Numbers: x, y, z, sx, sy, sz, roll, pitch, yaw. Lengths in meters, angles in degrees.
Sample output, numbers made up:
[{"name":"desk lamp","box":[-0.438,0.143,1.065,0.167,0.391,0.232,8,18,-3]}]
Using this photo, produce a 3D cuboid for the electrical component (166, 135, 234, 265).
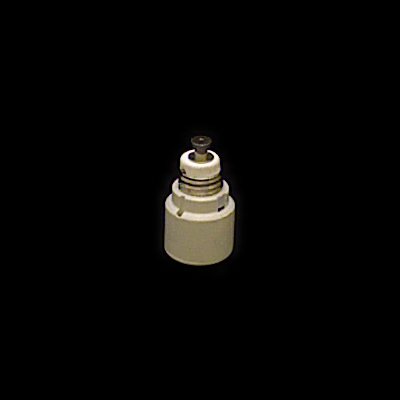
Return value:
[{"name":"electrical component","box":[0.000,0.000,0.628,0.040,0.079,0.039,1,30,0]}]
